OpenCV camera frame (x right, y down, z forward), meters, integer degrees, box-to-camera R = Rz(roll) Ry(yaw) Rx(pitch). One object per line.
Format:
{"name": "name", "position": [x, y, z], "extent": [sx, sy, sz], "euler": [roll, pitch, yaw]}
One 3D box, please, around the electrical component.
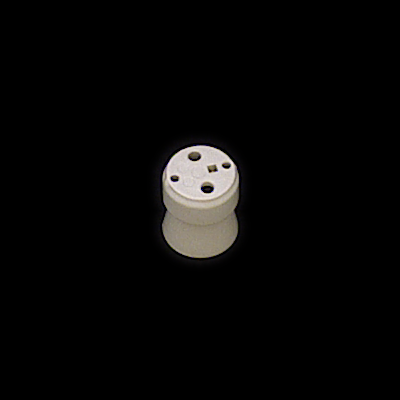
{"name": "electrical component", "position": [0.000, 0.000, 0.629], "extent": [0.045, 0.044, 0.055], "euler": [0, -37, 0]}
